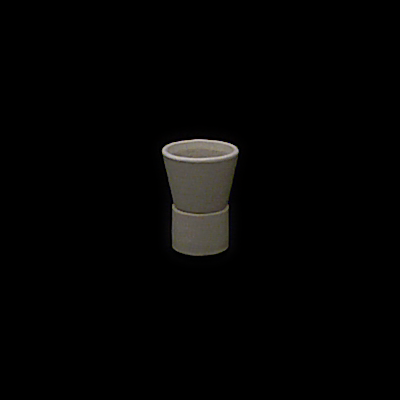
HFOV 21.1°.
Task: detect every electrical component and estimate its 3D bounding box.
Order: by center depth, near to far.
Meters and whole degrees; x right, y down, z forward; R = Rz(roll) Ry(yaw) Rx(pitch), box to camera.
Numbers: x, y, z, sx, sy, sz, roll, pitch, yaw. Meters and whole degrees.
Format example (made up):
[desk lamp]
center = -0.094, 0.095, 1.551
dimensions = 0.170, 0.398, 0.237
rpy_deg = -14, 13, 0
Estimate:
[electrical component]
center = 0.000, 0.000, 0.639
dimensions = 0.044, 0.066, 0.044
rpy_deg = 0, 21, 0
